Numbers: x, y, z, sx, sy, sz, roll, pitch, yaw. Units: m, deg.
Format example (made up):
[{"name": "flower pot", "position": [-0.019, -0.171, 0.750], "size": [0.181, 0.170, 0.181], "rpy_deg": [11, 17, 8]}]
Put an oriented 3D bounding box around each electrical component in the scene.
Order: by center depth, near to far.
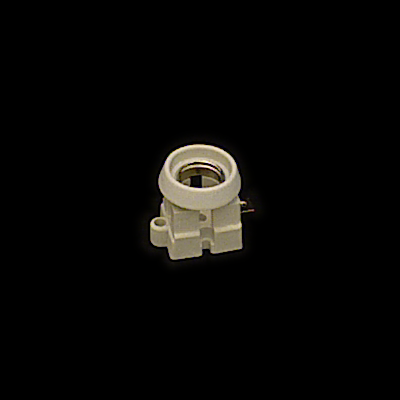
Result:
[{"name": "electrical component", "position": [0.000, 0.000, 0.641], "size": [0.067, 0.056, 0.048], "rpy_deg": [-9, 45, -11]}]
